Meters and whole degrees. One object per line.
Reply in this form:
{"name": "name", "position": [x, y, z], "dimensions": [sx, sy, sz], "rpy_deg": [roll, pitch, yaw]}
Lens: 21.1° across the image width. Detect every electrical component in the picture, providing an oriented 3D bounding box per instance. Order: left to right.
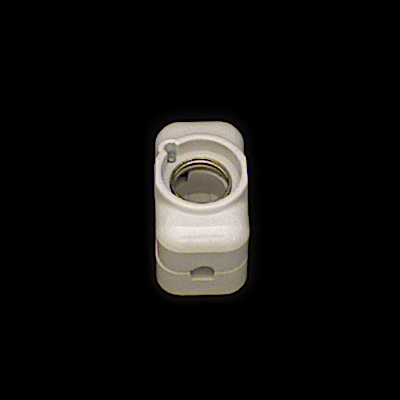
{"name": "electrical component", "position": [0.000, 0.000, 0.635], "dimensions": [0.054, 0.094, 0.059], "rpy_deg": [-2, -37, -2]}
